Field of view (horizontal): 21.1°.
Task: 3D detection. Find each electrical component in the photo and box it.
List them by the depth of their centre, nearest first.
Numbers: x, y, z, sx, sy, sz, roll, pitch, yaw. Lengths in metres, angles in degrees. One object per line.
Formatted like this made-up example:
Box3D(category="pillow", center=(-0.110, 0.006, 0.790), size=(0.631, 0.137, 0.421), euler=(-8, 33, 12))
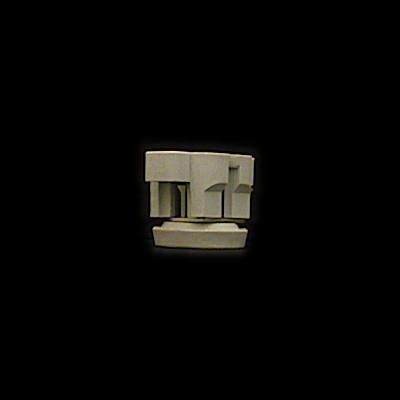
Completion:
Box3D(category="electrical component", center=(0.000, 0.000, 0.659), size=(0.057, 0.057, 0.079), euler=(2, -1, 40))
